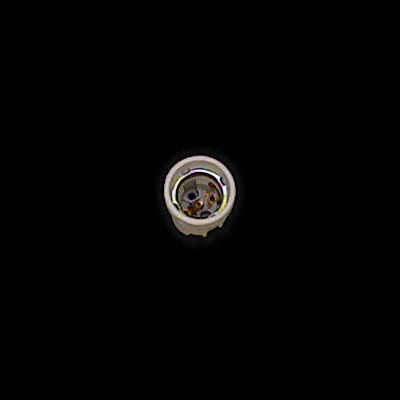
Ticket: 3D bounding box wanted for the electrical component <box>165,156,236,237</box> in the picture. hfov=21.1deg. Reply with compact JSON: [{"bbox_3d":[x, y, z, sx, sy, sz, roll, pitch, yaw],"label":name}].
[{"bbox_3d":[0.000,0.000,0.626,0.040,0.040,0.046,0,-17,0],"label":"electrical component"}]
